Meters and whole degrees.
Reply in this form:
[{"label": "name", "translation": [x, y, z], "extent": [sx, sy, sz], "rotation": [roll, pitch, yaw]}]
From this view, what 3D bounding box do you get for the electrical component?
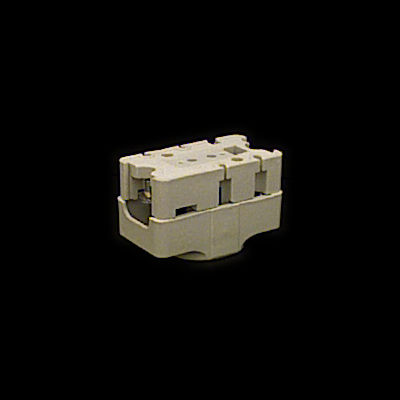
[{"label": "electrical component", "translation": [0.000, 0.000, 0.647], "extent": [0.090, 0.056, 0.049], "rotation": [-13, 25, -33]}]
